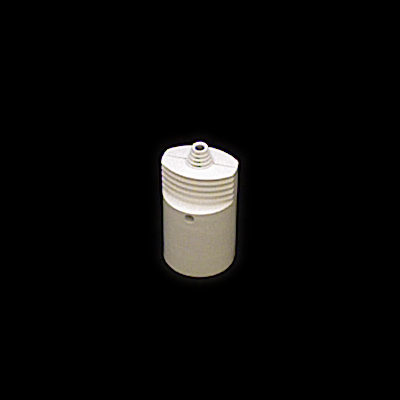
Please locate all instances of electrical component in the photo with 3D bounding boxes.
[{"bbox_3d":[0.000,0.000,0.623,0.043,0.082,0.042,0,42,0],"label":"electrical component"}]
